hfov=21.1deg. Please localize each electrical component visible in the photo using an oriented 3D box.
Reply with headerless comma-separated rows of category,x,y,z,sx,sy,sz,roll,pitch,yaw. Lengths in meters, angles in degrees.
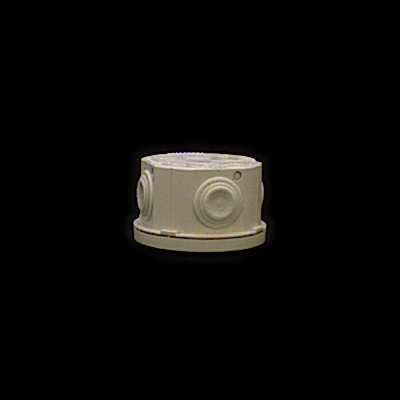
electrical component,0.000,0.000,0.647,0.080,0.051,0.079,1,10,0
